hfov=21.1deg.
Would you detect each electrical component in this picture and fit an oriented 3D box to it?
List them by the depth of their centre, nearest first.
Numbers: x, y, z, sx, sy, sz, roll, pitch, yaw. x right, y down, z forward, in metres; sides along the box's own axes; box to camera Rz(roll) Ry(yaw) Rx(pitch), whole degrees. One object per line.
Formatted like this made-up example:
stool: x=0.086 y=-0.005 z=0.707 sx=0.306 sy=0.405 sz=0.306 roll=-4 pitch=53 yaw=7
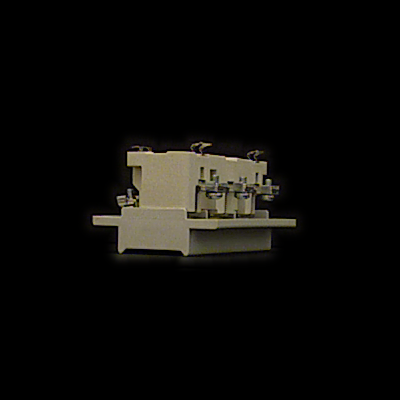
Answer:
electrical component: x=0.000 y=0.000 z=0.657 sx=0.078 sy=0.063 sz=0.122 roll=1 pitch=0 yaw=25
